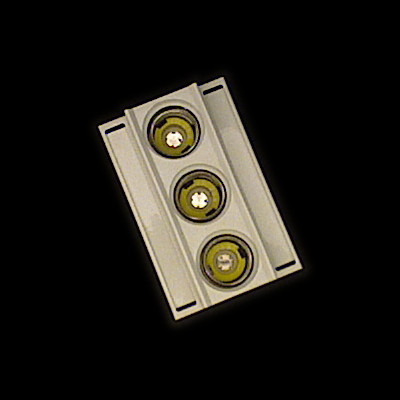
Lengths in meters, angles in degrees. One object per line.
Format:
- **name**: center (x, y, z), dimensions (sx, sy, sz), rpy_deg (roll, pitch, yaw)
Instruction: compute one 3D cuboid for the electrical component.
- **electrical component**: center (0.000, 0.000, 0.637), dimensions (0.079, 0.121, 0.063), rpy_deg (-22, -6, -3)
